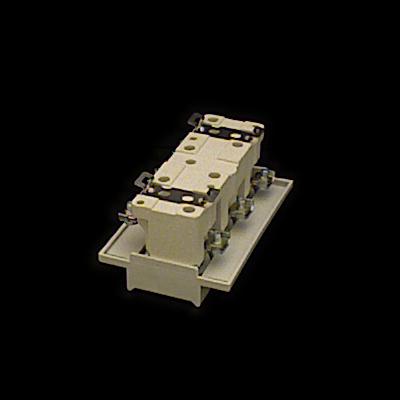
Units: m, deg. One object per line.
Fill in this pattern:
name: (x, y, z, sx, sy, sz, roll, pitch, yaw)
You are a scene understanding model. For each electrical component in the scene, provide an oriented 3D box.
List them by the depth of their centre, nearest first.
electrical component: (0.000, 0.000, 0.641, 0.078, 0.064, 0.120, 12, 34, 17)
